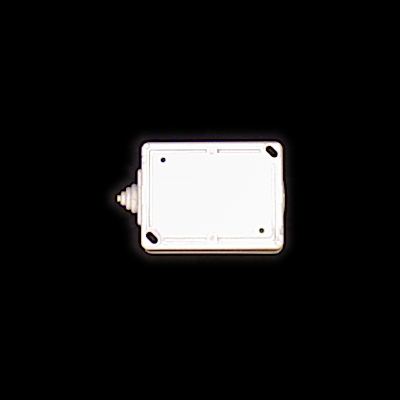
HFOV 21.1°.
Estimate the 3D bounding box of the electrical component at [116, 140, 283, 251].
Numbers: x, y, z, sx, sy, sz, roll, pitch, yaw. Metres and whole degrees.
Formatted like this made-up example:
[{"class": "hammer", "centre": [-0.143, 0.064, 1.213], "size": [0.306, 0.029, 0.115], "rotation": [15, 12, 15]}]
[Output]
[{"class": "electrical component", "centre": [0.000, 0.000, 0.630], "size": [0.096, 0.062, 0.061], "rotation": [0, -7, 1]}]
